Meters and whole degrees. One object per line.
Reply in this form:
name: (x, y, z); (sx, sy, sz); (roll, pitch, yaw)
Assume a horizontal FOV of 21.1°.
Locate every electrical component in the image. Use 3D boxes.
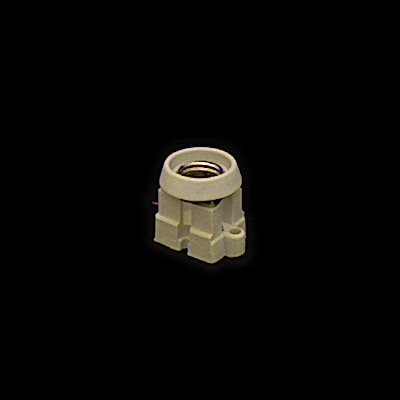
electrical component: (0.000, 0.000, 0.642); (0.065, 0.056, 0.048); (20, 35, 27)
